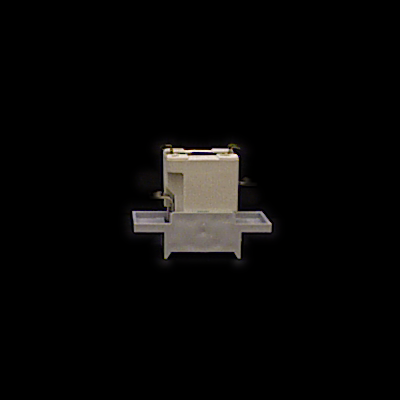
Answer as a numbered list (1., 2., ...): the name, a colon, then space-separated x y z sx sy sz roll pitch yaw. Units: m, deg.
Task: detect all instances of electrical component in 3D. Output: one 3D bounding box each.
1. electrical component: 0.000 0.000 0.643 0.081 0.064 0.042 0 11 -6
